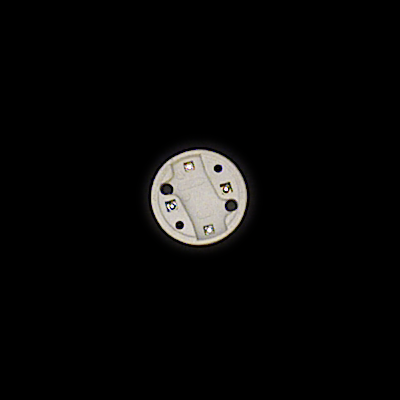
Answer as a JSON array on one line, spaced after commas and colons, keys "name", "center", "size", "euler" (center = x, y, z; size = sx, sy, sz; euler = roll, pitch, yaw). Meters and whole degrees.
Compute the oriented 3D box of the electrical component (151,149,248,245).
[{"name": "electrical component", "center": [0.000, 0.000, 0.636], "size": [0.055, 0.055, 0.047], "euler": [0, -6, 0]}]
